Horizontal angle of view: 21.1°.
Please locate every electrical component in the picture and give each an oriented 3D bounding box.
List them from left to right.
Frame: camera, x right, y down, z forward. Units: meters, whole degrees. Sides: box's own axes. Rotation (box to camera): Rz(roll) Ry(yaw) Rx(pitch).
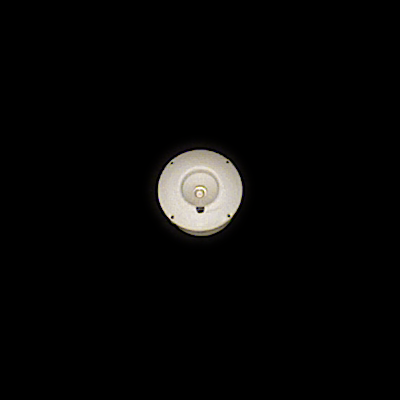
[{"bbox_3d":[0.000,0.000,0.633,0.048,0.048,0.061,0,-16,1],"label":"electrical component"}]
